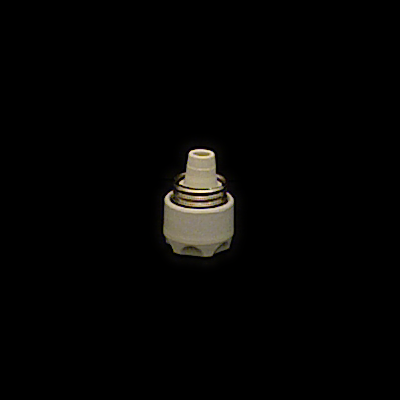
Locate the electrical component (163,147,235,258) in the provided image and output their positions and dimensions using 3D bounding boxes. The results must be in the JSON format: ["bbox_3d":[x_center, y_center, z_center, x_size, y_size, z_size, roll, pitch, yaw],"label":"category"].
[{"bbox_3d":[0.000,0.000,0.645,0.043,0.063,0.043,2,23,0],"label":"electrical component"}]
